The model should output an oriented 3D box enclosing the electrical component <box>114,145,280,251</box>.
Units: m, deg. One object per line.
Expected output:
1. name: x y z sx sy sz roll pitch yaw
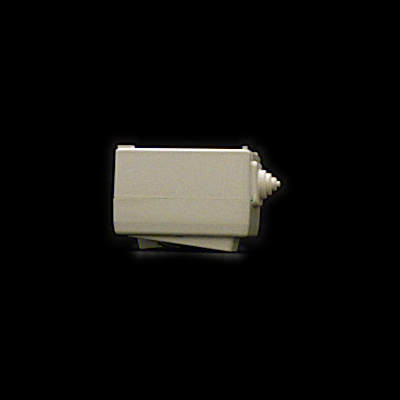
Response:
1. electrical component: 0.000 0.000 0.651 0.096 0.061 0.061 1 0 10
